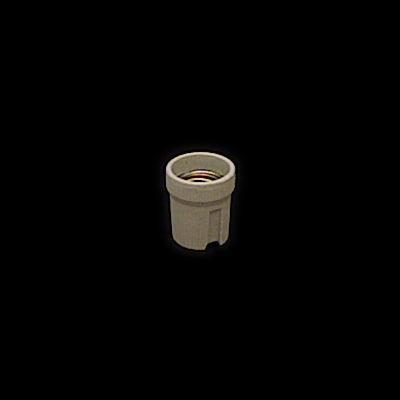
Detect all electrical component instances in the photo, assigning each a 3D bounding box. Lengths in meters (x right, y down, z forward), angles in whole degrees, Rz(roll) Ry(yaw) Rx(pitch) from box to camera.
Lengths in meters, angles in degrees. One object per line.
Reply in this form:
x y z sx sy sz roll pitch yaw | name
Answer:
0.000 0.000 0.638 0.040 0.047 0.039 1 31 0 | electrical component
